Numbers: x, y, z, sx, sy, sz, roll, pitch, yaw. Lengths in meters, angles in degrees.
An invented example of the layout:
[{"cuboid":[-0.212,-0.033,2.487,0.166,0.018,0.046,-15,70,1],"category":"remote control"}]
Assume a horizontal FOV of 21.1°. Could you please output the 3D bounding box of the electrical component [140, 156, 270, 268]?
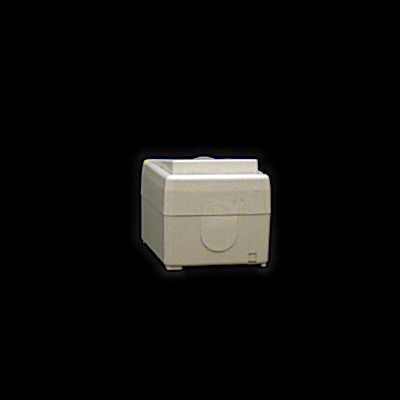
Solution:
[{"cuboid":[0.000,0.000,0.646,0.062,0.061,0.095,-1,11,-14],"category":"electrical component"}]
